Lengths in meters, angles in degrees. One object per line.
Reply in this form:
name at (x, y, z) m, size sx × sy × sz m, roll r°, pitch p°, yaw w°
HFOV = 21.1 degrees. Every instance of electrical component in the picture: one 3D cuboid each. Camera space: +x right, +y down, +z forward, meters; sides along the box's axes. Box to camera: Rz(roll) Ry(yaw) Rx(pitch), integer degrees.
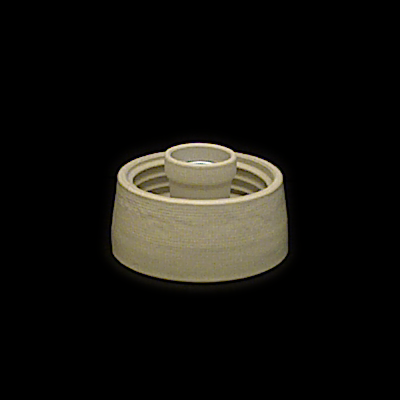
electrical component at (0.000, 0.000, 0.644) m, size 0.108 × 0.061 × 0.106 m, roll 1°, pitch 22°, yaw 0°
